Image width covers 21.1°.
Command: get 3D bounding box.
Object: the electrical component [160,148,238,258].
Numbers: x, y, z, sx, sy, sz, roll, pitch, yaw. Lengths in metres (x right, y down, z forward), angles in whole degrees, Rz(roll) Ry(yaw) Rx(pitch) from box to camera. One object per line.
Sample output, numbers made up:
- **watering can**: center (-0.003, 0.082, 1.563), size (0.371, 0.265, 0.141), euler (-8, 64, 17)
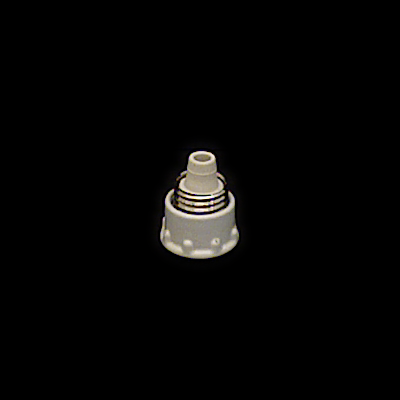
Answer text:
- **electrical component**: center (0.000, 0.000, 0.642), size (0.048, 0.063, 0.047), euler (2, 33, -1)
